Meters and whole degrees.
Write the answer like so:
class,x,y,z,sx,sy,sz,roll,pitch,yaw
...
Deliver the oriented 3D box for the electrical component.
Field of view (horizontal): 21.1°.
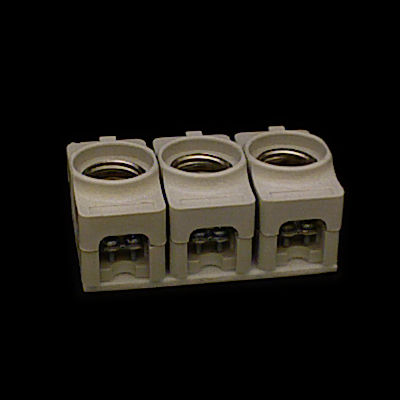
class,x,y,z,sx,sy,sz,roll,pitch,yaw
electrical component,0.000,0.000,0.642,0.150,0.063,0.087,-4,31,-9
